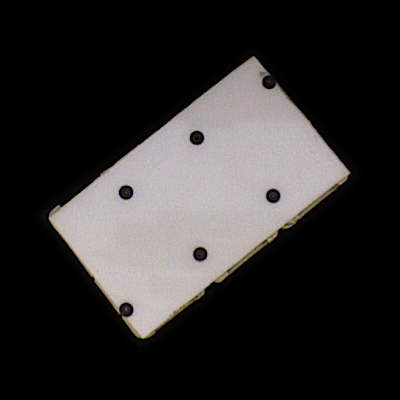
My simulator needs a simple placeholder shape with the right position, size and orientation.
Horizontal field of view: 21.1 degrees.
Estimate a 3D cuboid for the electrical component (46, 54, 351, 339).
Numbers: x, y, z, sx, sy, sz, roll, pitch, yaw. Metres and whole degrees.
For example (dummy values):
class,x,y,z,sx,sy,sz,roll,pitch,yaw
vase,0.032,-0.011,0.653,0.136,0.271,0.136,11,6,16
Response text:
class,x,y,z,sx,sy,sz,roll,pitch,yaw
electrical component,0.000,0.000,0.630,0.150,0.089,0.061,-38,-5,-3
